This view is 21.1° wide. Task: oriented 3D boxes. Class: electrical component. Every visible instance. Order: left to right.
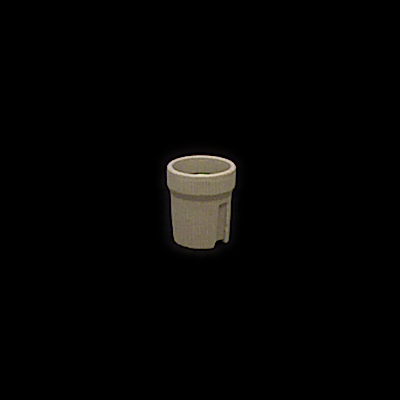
[{"bbox_3d":[0.000,0.000,0.641,0.040,0.047,0.039,1,21,0],"label":"electrical component"}]
